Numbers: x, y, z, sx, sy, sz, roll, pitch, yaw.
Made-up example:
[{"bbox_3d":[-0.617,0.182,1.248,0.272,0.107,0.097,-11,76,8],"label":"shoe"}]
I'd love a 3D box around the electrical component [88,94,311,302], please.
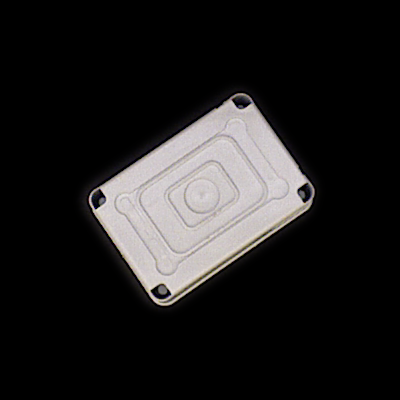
[{"bbox_3d":[0.000,0.000,0.628,0.113,0.078,0.057,-34,-5,-3],"label":"electrical component"}]
